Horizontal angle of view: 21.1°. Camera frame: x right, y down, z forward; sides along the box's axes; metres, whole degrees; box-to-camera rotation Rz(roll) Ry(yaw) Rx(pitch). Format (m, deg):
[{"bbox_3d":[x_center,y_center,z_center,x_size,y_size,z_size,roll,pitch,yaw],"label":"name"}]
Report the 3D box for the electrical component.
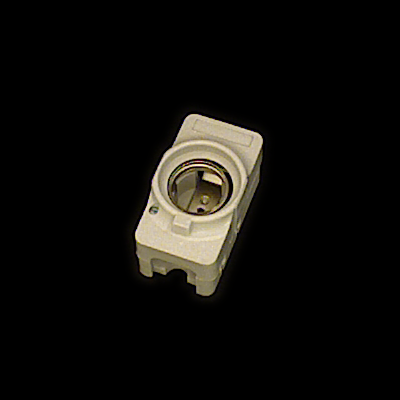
[{"bbox_3d":[0.000,0.000,0.636,0.050,0.090,0.055,18,-25,9],"label":"electrical component"}]
